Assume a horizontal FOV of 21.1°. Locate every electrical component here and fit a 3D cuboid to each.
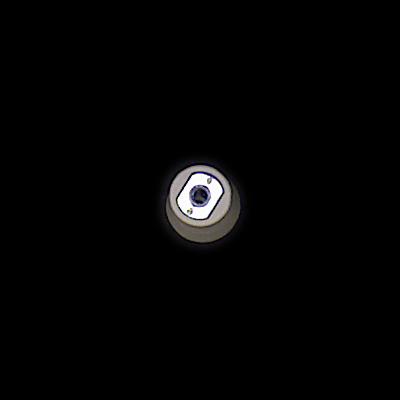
[{"bbox_3d":[0.000,0.000,0.626,0.044,0.044,0.065,0,-6,2],"label":"electrical component"}]
